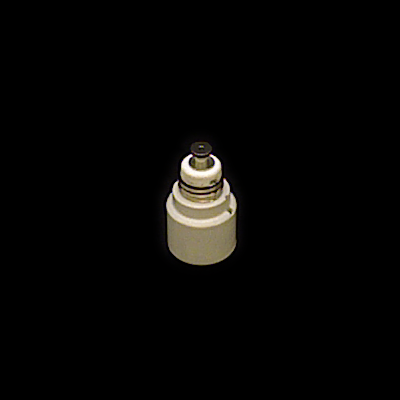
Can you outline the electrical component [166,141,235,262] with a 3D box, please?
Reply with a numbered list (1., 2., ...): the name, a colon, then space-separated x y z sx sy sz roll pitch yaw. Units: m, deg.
1. electrical component: 0.000 0.000 0.624 0.040 0.079 0.039 0 42 1
